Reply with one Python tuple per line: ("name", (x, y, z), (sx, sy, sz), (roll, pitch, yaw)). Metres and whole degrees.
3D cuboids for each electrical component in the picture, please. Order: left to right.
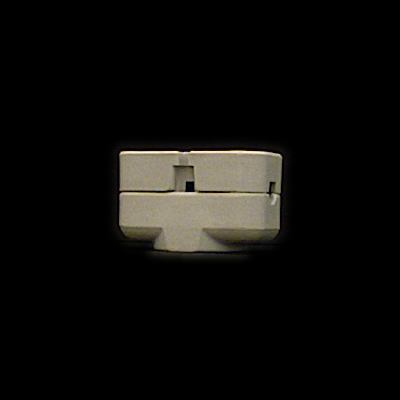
("electrical component", (0.000, 0.000, 0.660), (0.094, 0.059, 0.054), (1, 1, 22))
